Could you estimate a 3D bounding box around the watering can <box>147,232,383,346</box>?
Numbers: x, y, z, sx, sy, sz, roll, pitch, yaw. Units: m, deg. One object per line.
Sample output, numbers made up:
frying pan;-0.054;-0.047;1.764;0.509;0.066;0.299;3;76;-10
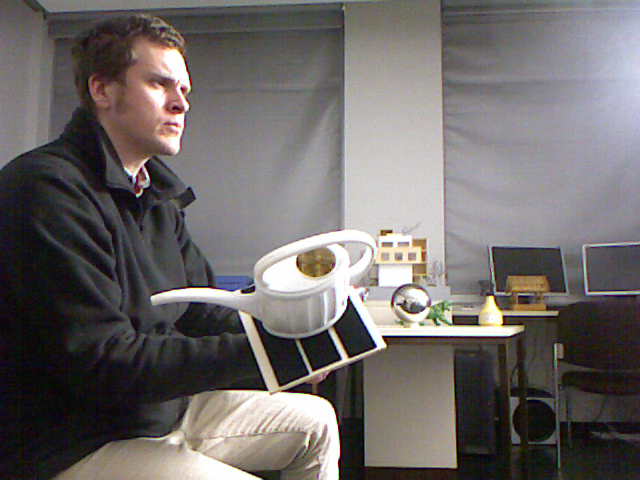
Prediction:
watering can;-0.068;0.084;0.797;0.350;0.106;0.220;-16;-37;-12
